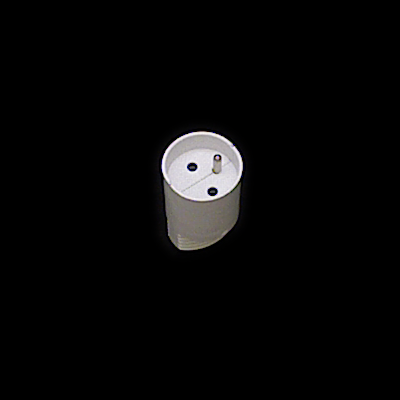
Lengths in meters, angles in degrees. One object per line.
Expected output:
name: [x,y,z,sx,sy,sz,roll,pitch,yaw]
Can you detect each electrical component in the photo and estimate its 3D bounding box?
electrical component: [0.000,0.000,0.617,0.043,0.043,0.081,0,-27,-1]
